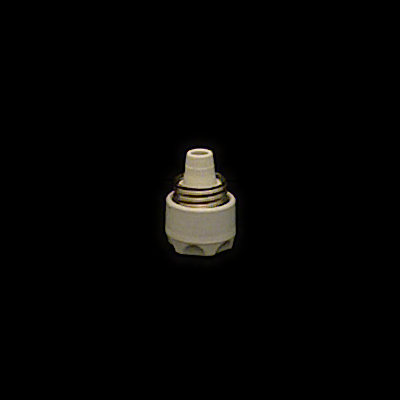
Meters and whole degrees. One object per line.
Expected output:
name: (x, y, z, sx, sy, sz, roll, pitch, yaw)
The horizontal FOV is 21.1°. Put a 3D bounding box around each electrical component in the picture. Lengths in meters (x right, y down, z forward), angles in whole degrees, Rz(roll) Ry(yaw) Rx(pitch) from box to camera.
electrical component: (0.000, 0.000, 0.646, 0.043, 0.063, 0.043, 0, 22, 1)
